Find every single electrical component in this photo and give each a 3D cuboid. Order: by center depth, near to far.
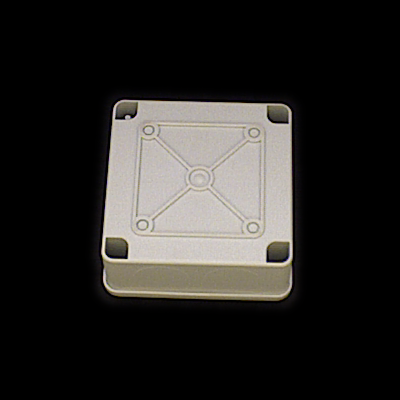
[{"bbox_3d":[0.000,0.000,0.628,0.109,0.109,0.056,2,-28,1],"label":"electrical component"}]
